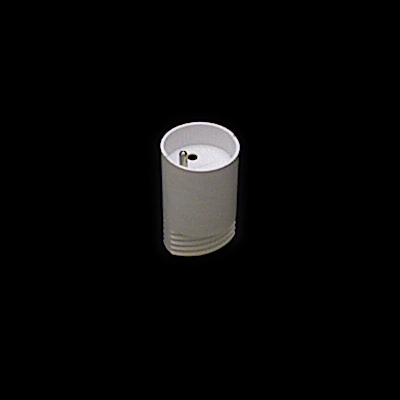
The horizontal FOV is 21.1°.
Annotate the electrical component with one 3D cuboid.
[{"bbox_3d":[0.000,0.000,0.621,0.043,0.082,0.042,0,41,0],"label":"electrical component"}]
